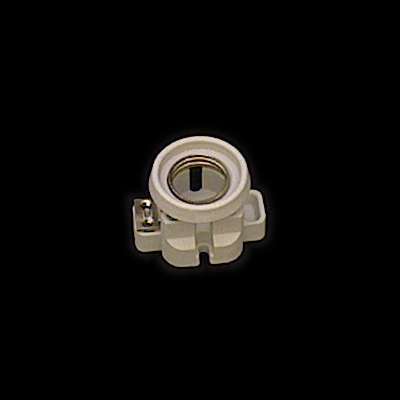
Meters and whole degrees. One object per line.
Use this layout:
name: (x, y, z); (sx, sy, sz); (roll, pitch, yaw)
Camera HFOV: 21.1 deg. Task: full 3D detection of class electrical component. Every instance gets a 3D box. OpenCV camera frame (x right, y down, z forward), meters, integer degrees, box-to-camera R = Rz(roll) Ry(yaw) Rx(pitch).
electrical component: (0.000, 0.000, 0.629); (0.078, 0.057, 0.057); (-6, -37, -5)
